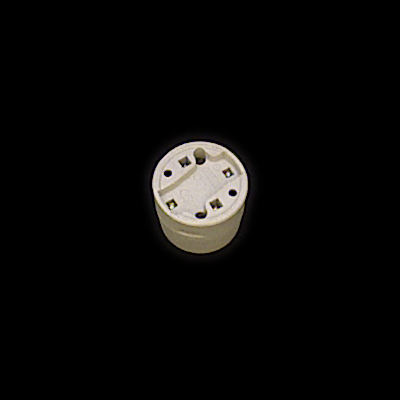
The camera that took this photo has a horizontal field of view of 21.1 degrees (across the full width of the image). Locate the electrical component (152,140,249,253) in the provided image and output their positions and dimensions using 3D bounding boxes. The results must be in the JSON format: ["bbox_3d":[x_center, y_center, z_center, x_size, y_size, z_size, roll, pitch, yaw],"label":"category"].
[{"bbox_3d":[0.000,0.000,0.634,0.055,0.056,0.047,0,-27,0],"label":"electrical component"}]
